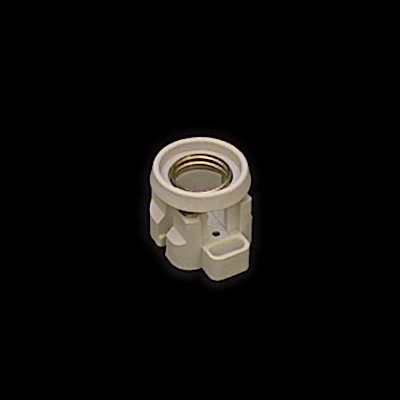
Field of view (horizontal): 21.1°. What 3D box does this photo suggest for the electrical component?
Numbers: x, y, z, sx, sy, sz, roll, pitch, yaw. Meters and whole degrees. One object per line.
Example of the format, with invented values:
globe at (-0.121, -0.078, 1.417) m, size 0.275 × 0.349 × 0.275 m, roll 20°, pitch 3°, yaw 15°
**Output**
electrical component at (0.000, 0.000, 0.632) m, size 0.058 × 0.057 × 0.077 m, roll -21°, pitch 46°, yaw -22°
